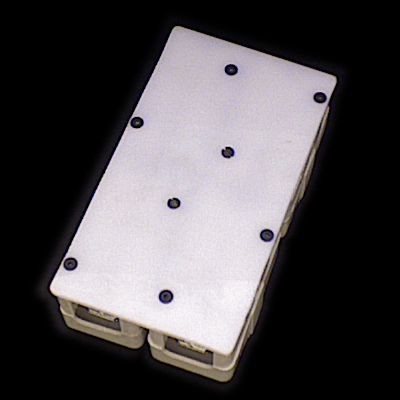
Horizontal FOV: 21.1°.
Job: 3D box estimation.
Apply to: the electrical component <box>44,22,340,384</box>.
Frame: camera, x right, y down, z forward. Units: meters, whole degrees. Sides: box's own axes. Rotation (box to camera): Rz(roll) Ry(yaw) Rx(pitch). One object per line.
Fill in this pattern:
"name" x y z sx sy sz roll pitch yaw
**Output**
"electrical component" 0.000 0.000 0.625 0.105 0.186 0.060 19 -26 9
